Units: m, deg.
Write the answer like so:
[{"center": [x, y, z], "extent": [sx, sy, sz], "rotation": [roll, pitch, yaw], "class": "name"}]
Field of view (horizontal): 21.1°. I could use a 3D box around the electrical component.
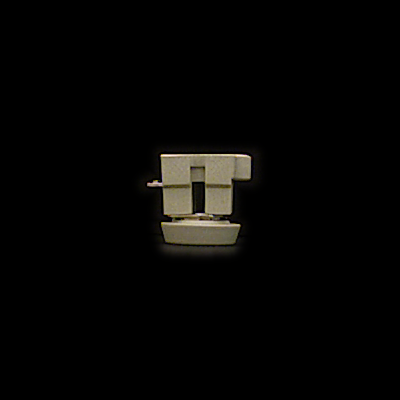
[{"center": [0.000, 0.000, 0.657], "extent": [0.066, 0.055, 0.048], "rotation": [0, 3, 3], "class": "electrical component"}]
